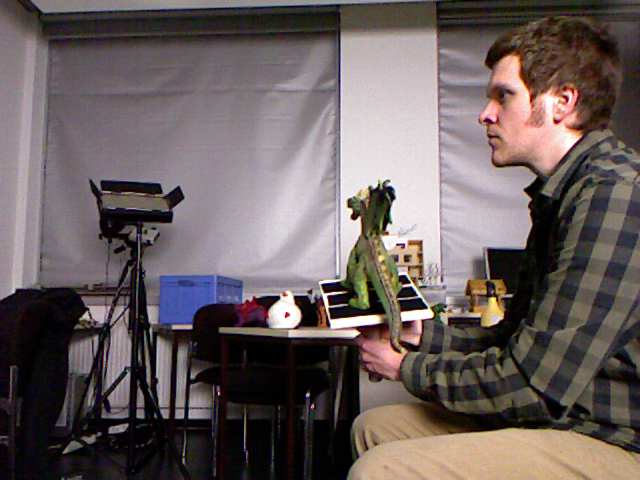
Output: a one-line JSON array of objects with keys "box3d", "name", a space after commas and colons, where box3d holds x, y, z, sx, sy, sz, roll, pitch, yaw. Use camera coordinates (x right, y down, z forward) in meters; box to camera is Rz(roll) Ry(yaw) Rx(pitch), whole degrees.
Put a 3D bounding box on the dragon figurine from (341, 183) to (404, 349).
[{"box3d": [0.113, 0.009, 1.031, 0.122, 0.239, 0.418, -5, 23, -9], "name": "dragon figurine"}]
